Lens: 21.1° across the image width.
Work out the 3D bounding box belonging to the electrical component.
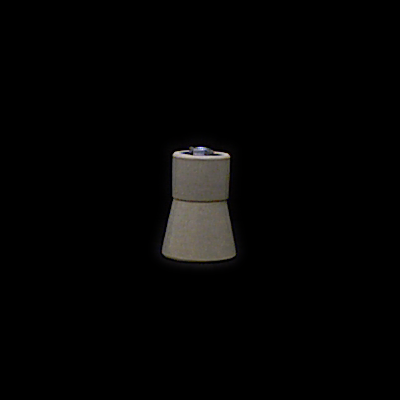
[{"bbox_3d":[0.000,0.000,0.644,0.044,0.066,0.044,2,10,0],"label":"electrical component"}]
